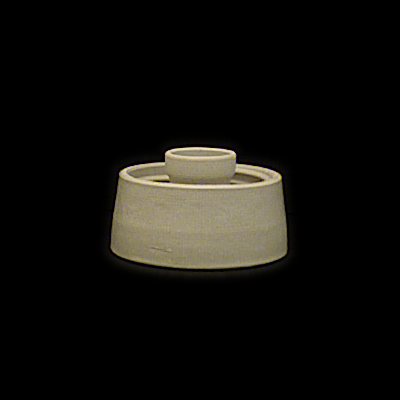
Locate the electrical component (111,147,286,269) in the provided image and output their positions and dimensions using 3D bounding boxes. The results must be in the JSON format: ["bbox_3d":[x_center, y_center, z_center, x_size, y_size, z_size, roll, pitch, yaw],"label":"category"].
[{"bbox_3d":[0.000,0.000,0.652,0.108,0.061,0.107,1,11,0],"label":"electrical component"}]
